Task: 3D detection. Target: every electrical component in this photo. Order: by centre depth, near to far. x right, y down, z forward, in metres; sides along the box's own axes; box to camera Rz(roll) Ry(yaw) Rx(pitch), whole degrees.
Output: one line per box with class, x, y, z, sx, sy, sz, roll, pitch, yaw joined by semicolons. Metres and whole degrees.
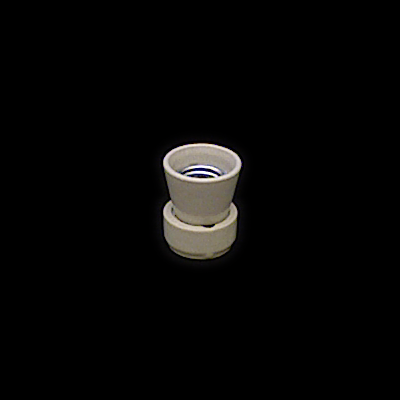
electrical component;0.000;0.000;0.637;0.045;0.056;0.044;1;32;-1
